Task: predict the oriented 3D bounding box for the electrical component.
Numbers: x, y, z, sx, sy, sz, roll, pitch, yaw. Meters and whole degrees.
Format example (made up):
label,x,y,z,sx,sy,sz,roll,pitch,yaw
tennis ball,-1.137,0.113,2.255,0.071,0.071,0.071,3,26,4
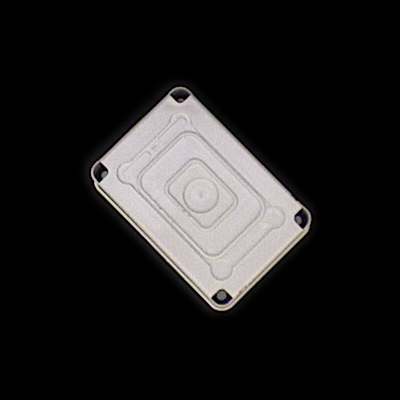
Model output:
label,x,y,z,sx,sy,sz,roll,pitch,yaw
electrical component,0.000,0.000,0.629,0.078,0.113,0.057,-44,-5,-4
